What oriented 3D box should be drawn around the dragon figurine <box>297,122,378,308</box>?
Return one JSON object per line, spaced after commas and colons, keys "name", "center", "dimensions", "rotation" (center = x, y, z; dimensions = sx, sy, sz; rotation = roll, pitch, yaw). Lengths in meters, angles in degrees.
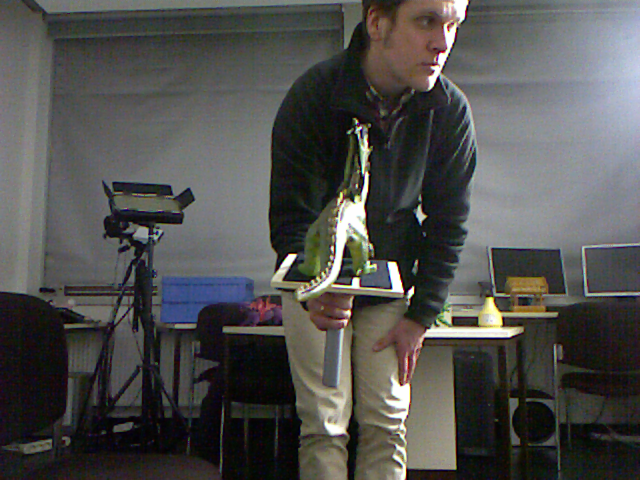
{"name": "dragon figurine", "center": [0.039, -0.067, 0.824], "dimensions": [0.123, 0.241, 0.416], "rotation": [7, 14, 7]}
